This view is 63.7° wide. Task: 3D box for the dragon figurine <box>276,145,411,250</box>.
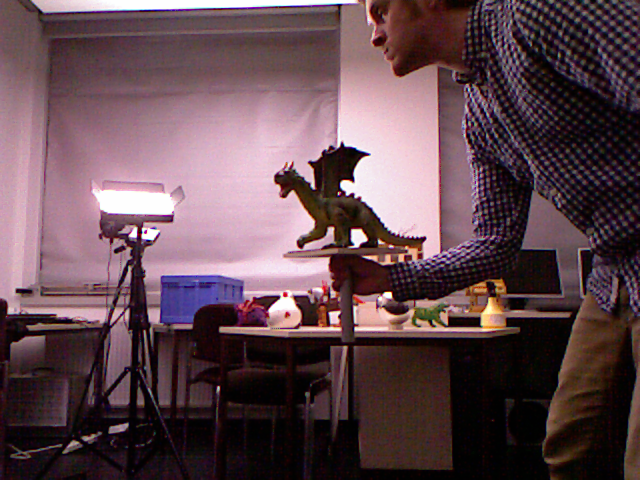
[{"bbox_3d":[0.062,-0.099,1.184,0.411,0.243,0.122,-1,0,-40],"label":"dragon figurine"}]
